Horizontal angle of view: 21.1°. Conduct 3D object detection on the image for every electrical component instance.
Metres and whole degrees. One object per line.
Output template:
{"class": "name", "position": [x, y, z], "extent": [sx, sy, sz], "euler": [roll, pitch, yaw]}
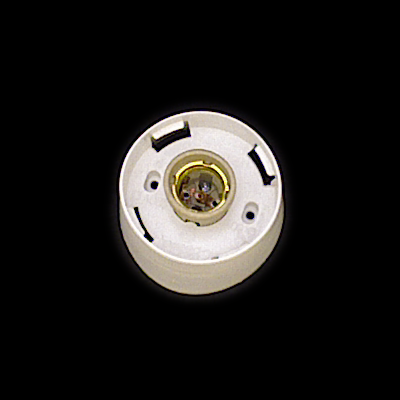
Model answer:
{"class": "electrical component", "position": [0.000, 0.000, 0.625], "extent": [0.099, 0.099, 0.064], "euler": [0, -17, 0]}
